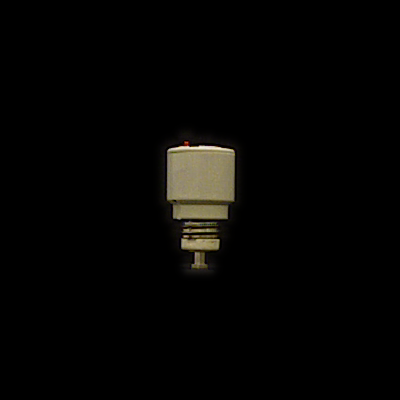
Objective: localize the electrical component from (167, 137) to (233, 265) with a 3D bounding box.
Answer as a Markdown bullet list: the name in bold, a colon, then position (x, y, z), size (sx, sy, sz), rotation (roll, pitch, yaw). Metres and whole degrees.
- **electrical component**: position (0.000, 0.000, 0.652), size (0.040, 0.078, 0.040), rotation (1, 1, 0)
